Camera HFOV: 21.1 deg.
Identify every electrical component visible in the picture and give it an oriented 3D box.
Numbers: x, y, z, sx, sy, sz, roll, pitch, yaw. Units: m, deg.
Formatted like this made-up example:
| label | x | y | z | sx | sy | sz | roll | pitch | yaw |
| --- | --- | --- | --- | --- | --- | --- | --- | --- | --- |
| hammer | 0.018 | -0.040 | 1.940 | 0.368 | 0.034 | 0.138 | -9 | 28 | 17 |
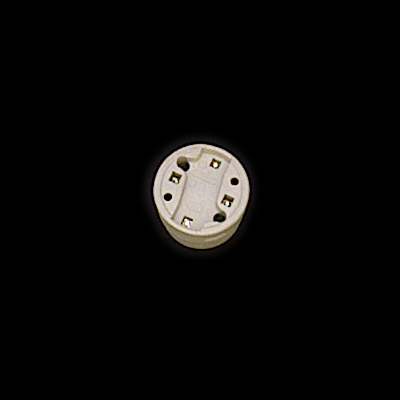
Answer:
| label | x | y | z | sx | sy | sz | roll | pitch | yaw |
| --- | --- | --- | --- | --- | --- | --- | --- | --- | --- |
| electrical component | 0.000 | 0.000 | 0.635 | 0.055 | 0.056 | 0.047 | 0 | -17 | 0 |
